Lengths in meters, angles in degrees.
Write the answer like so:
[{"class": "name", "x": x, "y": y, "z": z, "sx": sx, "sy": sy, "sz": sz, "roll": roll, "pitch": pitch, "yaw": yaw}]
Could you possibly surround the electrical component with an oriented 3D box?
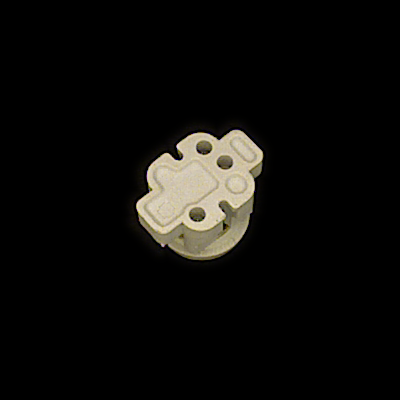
[{"class": "electrical component", "x": 0.000, "y": 0.000, "z": 0.634, "sx": 0.079, "sy": 0.057, "sz": 0.056, "roll": -39, "pitch": -20, "yaw": -16}]
